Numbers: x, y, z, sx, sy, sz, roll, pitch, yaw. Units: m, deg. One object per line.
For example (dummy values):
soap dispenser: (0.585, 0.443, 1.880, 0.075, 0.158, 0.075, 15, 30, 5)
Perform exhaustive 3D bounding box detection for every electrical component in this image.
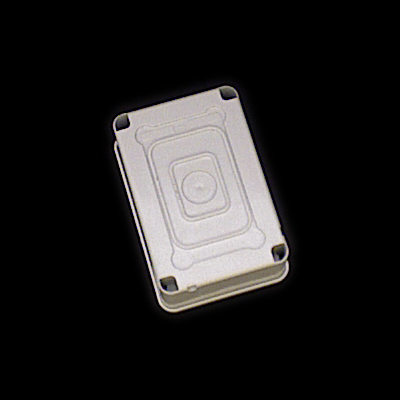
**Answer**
electrical component: (0.000, 0.000, 0.628, 0.078, 0.113, 0.057, -16, -17, -5)
